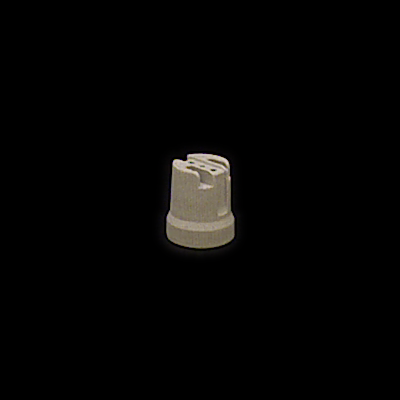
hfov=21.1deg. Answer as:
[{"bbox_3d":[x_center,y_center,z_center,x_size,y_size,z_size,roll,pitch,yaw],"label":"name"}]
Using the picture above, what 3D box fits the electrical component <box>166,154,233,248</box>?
[{"bbox_3d":[0.000,0.000,0.640,0.040,0.046,0.040,0,21,0],"label":"electrical component"}]
